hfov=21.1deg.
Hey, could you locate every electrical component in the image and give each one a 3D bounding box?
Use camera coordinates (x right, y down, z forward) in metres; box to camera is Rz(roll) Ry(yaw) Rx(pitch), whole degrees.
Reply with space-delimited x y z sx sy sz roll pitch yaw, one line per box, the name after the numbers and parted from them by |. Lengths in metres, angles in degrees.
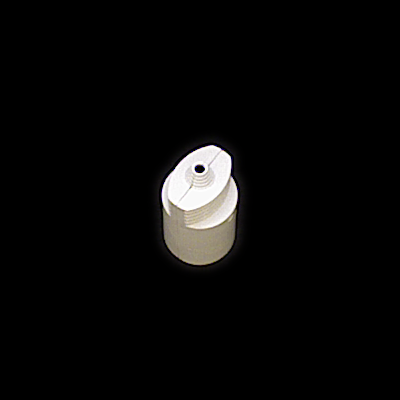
0.000 0.000 0.617 0.043 0.043 0.081 0 -27 0 | electrical component
